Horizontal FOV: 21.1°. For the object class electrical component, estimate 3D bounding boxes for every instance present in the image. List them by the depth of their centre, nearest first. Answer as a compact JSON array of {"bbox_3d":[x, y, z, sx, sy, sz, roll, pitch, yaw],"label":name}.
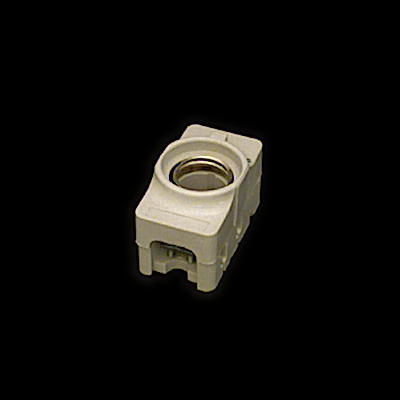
[{"bbox_3d":[0.000,0.000,0.639,0.050,0.056,0.089,14,45,15],"label":"electrical component"}]
